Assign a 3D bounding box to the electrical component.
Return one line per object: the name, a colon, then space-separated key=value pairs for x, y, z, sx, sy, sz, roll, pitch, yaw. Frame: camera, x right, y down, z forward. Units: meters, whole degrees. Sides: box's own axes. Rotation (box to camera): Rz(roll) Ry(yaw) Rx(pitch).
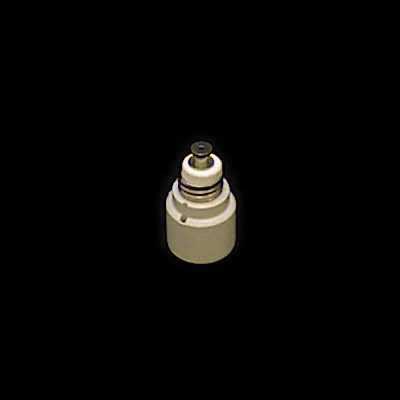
electrical component: x=0.000 y=0.000 z=0.626 sx=0.040 sy=0.079 sz=0.039 roll=0 pitch=43 yaw=0
